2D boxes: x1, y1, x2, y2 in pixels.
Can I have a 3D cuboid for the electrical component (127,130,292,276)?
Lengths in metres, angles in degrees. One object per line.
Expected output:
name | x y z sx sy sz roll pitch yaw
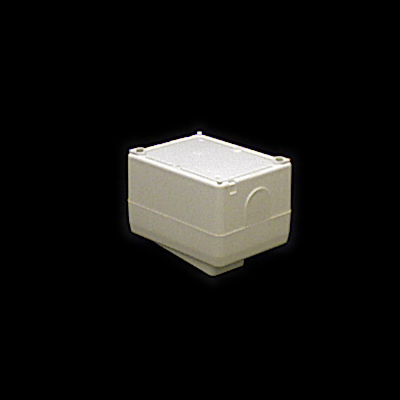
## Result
electrical component | 0.000 0.000 0.642 0.062 0.062 0.095 -19 29 -41
